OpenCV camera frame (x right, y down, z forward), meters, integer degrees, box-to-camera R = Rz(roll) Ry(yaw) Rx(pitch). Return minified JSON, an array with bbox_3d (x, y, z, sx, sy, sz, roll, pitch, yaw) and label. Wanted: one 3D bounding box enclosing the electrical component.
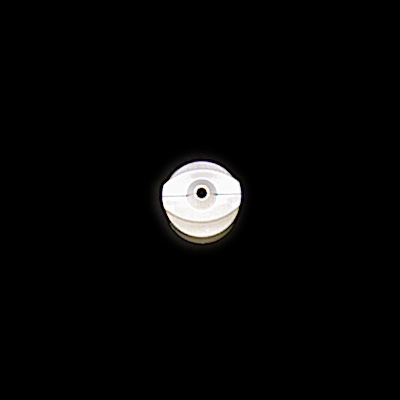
[{"bbox_3d":[0.000,0.000,0.616,0.043,0.043,0.080,0,-6,1],"label":"electrical component"}]
